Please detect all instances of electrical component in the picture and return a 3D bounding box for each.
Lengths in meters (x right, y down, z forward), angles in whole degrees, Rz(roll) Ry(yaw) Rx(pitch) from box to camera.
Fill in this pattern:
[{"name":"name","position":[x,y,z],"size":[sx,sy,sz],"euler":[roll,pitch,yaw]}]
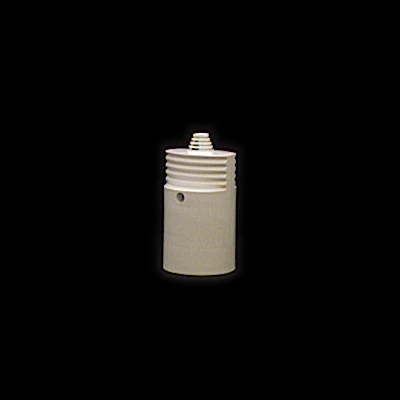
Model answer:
[{"name":"electrical component","position":[0.000,0.000,0.643],"size":[0.043,0.081,0.043],"euler":[1,11,0]}]
